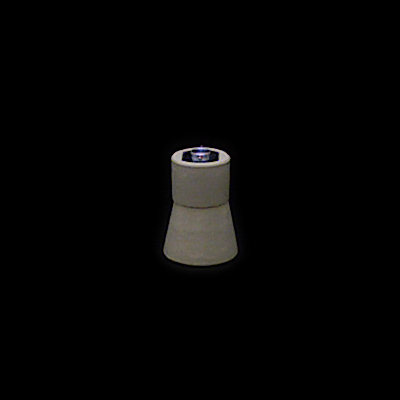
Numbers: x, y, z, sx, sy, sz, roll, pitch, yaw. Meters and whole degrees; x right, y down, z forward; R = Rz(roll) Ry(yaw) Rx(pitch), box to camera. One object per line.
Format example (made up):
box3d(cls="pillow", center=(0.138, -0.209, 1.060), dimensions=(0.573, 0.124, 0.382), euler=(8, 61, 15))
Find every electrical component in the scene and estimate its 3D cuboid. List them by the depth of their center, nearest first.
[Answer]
box3d(cls="electrical component", center=(0.000, 0.000, 0.638), dimensions=(0.044, 0.066, 0.044), euler=(0, 22, 0))
